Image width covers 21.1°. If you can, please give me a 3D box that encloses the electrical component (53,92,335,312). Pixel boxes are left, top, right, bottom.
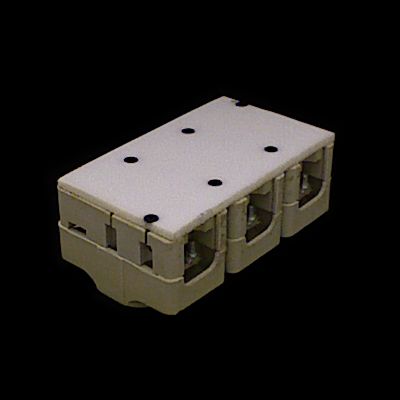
[{"bbox_3d":[0.000,0.000,0.637,0.088,0.063,0.148,24,38,34],"label":"electrical component"}]
